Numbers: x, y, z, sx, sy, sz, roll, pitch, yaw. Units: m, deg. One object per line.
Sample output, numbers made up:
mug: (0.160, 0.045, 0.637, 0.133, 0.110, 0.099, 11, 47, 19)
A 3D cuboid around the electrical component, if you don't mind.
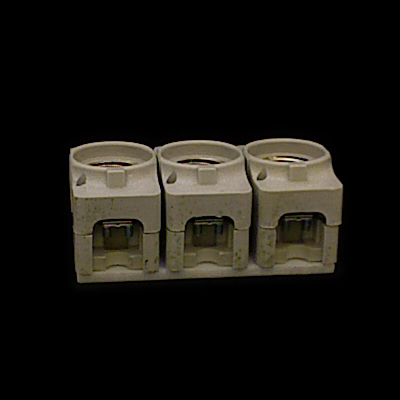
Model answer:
electrical component: (0.000, 0.000, 0.644, 0.150, 0.063, 0.088, -2, 21, -8)
